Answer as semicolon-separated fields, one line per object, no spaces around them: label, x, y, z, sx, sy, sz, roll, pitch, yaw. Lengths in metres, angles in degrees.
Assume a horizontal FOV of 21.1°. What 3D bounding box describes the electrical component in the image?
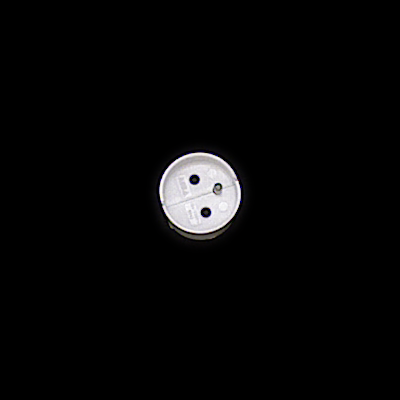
electrical component;0.000;0.000;0.616;0.043;0.043;0.080;0;-6;-1
